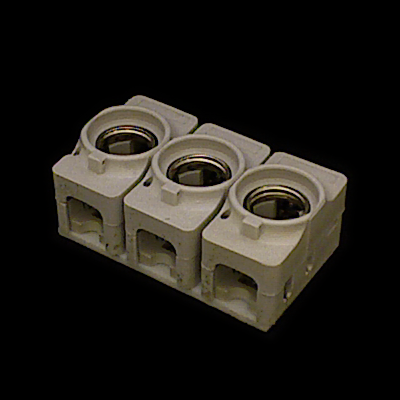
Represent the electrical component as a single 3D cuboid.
[{"bbox_3d":[0.000,0.000,0.635,0.149,0.063,0.088,23,47,23],"label":"electrical component"}]
